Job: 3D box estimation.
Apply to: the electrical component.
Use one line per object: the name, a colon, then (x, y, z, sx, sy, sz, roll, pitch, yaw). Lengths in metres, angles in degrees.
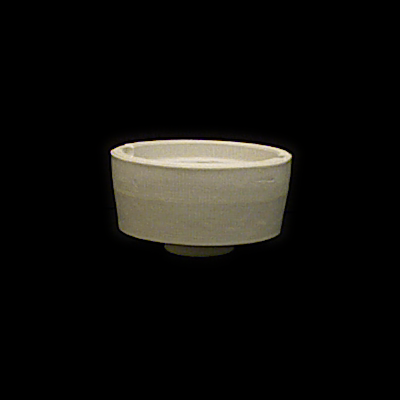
electrical component: (0.000, 0.000, 0.649, 0.108, 0.061, 0.107, 2, 11, 0)
